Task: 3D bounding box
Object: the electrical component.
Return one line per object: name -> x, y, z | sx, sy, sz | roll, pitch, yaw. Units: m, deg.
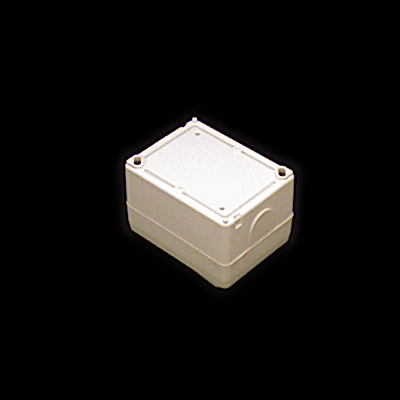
electrical component -> 0.000, 0.000, 0.633 | 0.095, 0.061, 0.061 | 31, 50, 30
